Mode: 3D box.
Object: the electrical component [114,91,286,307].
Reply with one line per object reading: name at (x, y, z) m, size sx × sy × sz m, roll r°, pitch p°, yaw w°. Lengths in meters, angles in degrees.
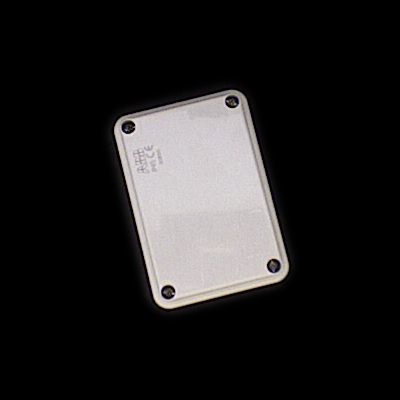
electrical component at (0.000, 0.000, 0.627) m, size 0.078 × 0.113 × 0.057 m, roll -14°, pitch -6°, yaw -1°
